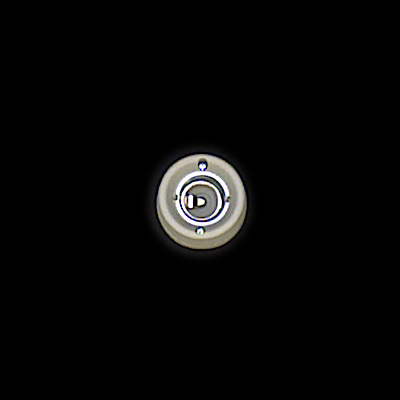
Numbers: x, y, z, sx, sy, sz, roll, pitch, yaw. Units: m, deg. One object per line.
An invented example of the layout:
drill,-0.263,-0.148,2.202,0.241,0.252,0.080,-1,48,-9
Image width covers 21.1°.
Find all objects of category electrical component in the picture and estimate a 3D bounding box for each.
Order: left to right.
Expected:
electrical component,0.000,0.000,0.634,0.055,0.055,0.047,0,-8,0
